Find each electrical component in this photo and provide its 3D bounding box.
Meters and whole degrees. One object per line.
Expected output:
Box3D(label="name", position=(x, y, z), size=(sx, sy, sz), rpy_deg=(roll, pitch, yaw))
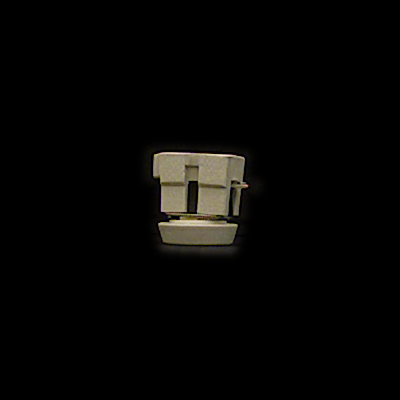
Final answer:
Box3D(label="electrical component", position=(0.000, 0.000, 0.656), size=(0.066, 0.055, 0.049), rpy_deg=(3, 1, 18))
